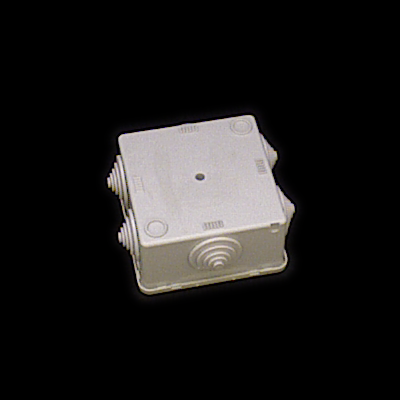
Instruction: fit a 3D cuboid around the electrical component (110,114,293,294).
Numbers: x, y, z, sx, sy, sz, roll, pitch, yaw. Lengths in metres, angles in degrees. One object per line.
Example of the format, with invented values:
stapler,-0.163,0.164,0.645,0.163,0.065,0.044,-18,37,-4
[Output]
electrical component,0.000,0.000,0.632,0.100,0.099,0.049,-9,-37,-8
